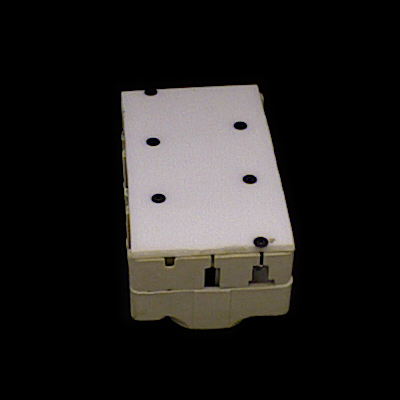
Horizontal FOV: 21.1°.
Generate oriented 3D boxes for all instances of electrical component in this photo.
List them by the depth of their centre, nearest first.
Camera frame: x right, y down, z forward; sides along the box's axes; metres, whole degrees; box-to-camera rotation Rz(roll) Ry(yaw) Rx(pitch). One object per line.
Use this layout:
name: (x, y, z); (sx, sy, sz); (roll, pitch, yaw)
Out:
electrical component: (0.000, 0.000, 0.638); (0.090, 0.063, 0.147); (-2, 41, -4)
